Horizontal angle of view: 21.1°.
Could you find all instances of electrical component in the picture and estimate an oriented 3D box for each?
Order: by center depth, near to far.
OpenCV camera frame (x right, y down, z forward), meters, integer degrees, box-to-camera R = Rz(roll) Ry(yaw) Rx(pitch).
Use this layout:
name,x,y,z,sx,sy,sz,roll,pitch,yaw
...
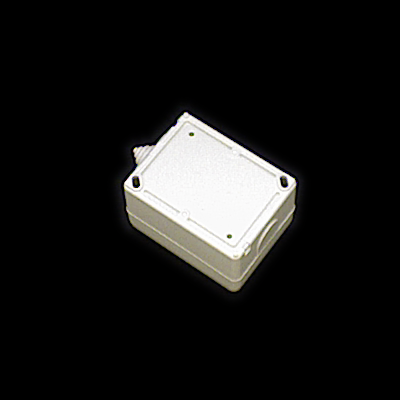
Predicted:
name,x,y,z,sx,sy,sz,roll,pitch,yaw
electrical component,0.000,0.000,0.627,0.096,0.062,0.061,33,-22,16
